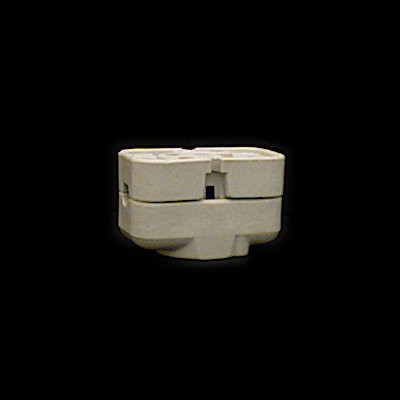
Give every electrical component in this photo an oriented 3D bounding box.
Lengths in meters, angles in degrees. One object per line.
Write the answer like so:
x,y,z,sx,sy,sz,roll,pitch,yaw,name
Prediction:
0.000,0.000,0.650,0.095,0.060,0.053,-2,12,-20,electrical component
